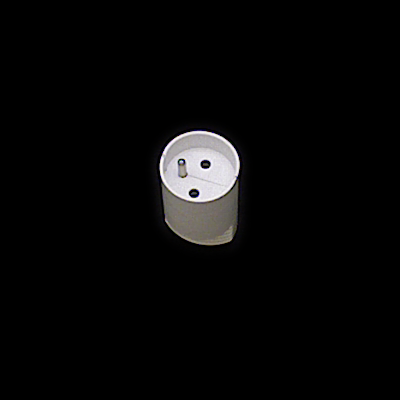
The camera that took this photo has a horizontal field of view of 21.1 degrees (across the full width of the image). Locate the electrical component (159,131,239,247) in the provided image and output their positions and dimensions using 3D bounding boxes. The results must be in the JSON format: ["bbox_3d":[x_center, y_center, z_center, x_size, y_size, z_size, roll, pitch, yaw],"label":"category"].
[{"bbox_3d":[0.000,0.000,0.616,0.043,0.043,0.081,0,-28,1],"label":"electrical component"}]
